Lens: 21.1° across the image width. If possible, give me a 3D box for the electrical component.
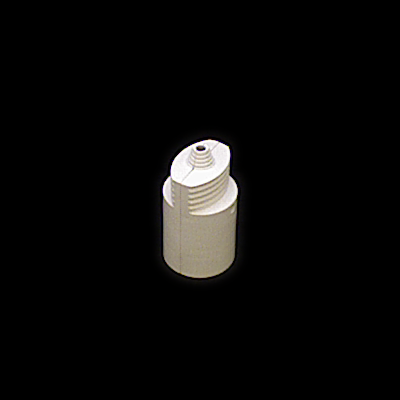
[{"bbox_3d":[0.000,0.000,0.623,0.043,0.082,0.042,0,42,0],"label":"electrical component"}]
